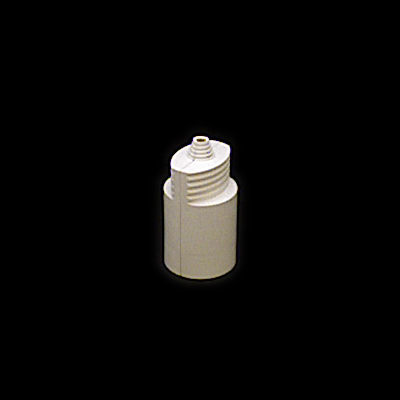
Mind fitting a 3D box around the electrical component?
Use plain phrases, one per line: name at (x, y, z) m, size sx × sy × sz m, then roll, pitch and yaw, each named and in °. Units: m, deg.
electrical component at (0.000, 0.000, 0.629) m, size 0.043 × 0.082 × 0.042 m, roll 1°, pitch 31°, yaw 0°
